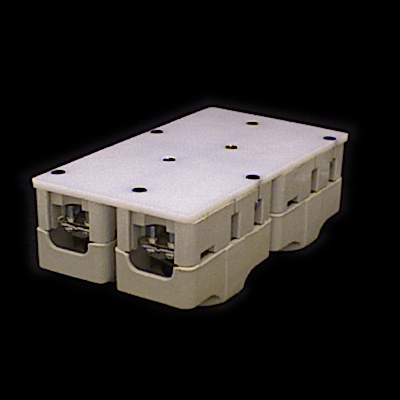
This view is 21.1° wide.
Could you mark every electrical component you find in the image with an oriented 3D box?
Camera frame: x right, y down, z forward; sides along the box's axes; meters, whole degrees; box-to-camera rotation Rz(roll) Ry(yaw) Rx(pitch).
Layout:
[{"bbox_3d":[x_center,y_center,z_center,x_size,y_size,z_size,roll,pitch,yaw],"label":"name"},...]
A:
[{"bbox_3d":[0.000,0.000,0.638,0.105,0.061,0.185,13,24,30],"label":"electrical component"}]
